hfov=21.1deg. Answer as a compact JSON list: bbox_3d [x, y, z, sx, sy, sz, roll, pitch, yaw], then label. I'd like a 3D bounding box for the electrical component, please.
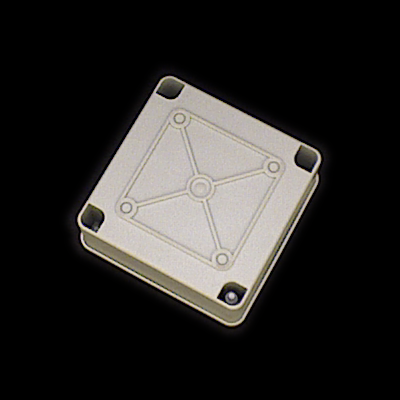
[{"bbox_3d":[0.000,0.000,0.627,0.109,0.109,0.056,28,-15,8],"label":"electrical component"}]
